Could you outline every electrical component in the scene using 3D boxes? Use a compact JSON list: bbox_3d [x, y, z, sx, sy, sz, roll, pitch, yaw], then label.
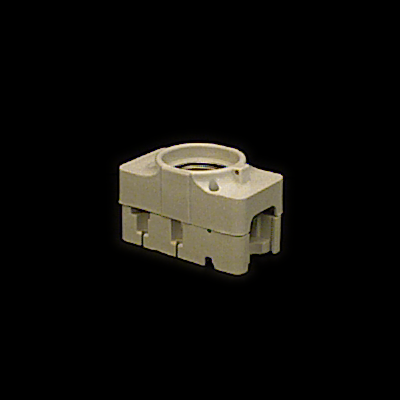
[{"bbox_3d":[0.000,0.000,0.646,0.088,0.056,0.050,15,26,31],"label":"electrical component"}]
